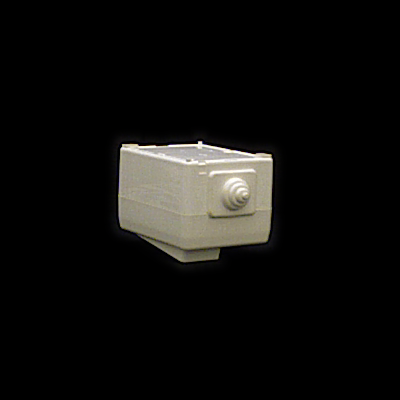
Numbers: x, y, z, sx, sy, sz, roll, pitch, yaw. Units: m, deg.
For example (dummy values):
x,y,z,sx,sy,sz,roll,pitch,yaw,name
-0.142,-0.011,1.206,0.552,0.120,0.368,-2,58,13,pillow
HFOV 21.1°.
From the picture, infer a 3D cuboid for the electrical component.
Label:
x,y,z,sx,sy,sz,roll,pitch,yaw,name
0.000,0.000,0.639,0.061,0.061,0.096,-5,12,-33,electrical component
